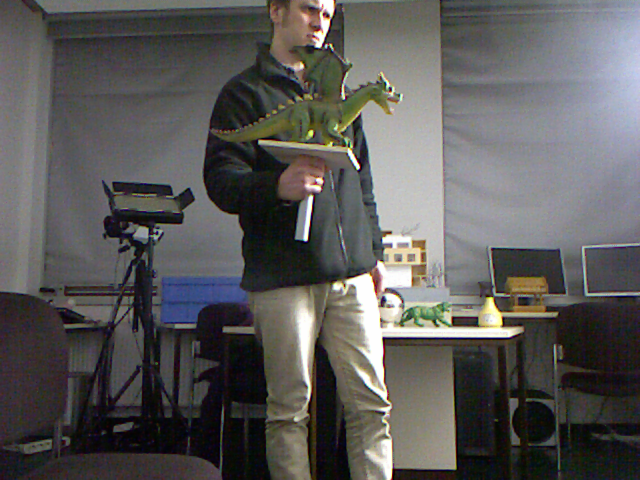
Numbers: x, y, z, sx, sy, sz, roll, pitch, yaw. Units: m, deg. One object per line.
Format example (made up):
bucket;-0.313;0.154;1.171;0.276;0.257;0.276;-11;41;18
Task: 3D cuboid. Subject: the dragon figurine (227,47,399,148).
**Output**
dragon figurine;-0.021;-0.333;1.224;0.411;0.242;0.122;8;2;10
